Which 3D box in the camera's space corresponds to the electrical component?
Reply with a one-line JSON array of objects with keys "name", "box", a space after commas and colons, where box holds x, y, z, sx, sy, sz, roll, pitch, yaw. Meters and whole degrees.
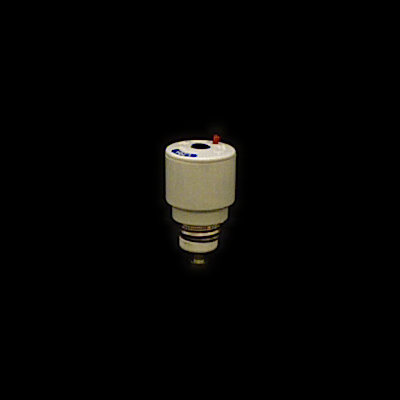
[{"name": "electrical component", "box": [0.000, 0.000, 0.637, 0.040, 0.079, 0.039, 1, 21, 0]}]
